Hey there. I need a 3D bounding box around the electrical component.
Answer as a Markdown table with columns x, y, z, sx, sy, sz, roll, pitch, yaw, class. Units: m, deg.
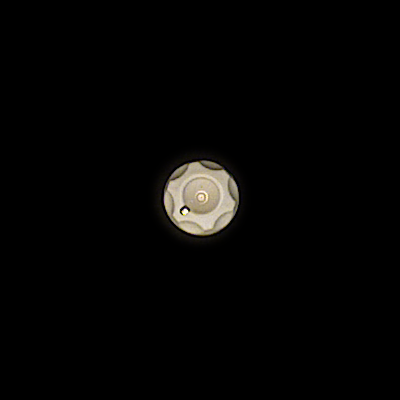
| x | y | z | sx | sy | sz | roll | pitch | yaw | class |
| --- | --- | --- | --- | --- | --- | --- | --- | --- | --- |
| 0.000 | 0.000 | 0.635 | 0.043 | 0.043 | 0.062 | 0 | -6 | 1 | electrical component |
